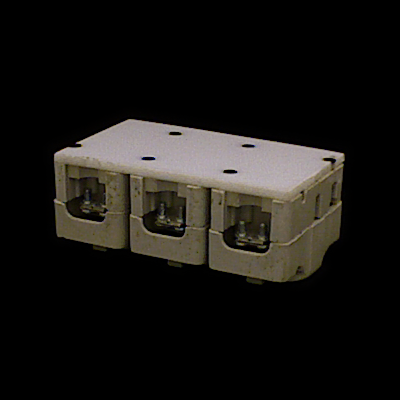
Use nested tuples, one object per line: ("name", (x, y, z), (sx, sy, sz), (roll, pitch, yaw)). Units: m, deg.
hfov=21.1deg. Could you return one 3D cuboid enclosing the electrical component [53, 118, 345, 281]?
("electrical component", (0.000, 0.000, 0.644), (0.149, 0.063, 0.088), (11, 22, 25))
